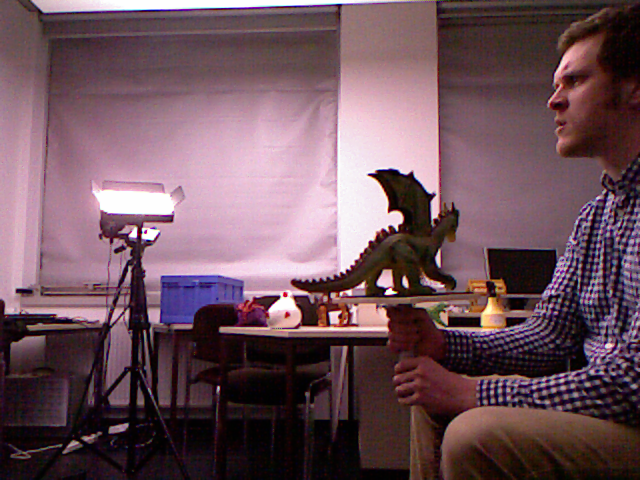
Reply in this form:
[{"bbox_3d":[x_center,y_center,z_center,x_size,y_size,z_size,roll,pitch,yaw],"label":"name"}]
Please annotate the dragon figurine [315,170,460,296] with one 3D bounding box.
[{"bbox_3d":[0.154,-0.015,0.999,0.410,0.244,0.121,4,-8,-42],"label":"dragon figurine"}]
